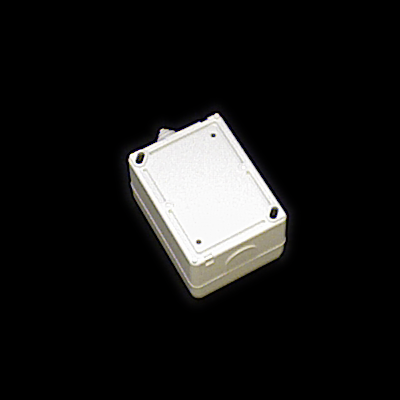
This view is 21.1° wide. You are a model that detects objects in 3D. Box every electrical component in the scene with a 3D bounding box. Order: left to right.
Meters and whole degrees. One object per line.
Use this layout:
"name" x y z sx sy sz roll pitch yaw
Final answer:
"electrical component" 0.000 0.000 0.629 0.062 0.096 0.061 -27 -24 -12
